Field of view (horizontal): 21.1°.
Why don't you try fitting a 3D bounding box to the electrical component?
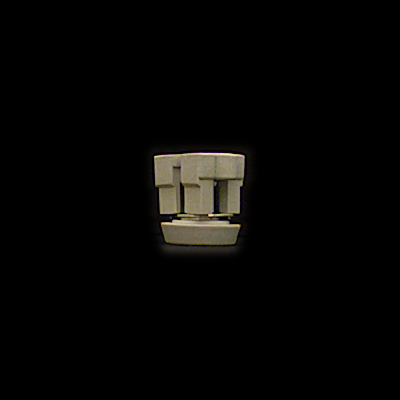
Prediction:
[{"bbox_3d":[0.000,0.000,0.656,0.049,0.055,0.066,-2,2,-41],"label":"electrical component"}]
